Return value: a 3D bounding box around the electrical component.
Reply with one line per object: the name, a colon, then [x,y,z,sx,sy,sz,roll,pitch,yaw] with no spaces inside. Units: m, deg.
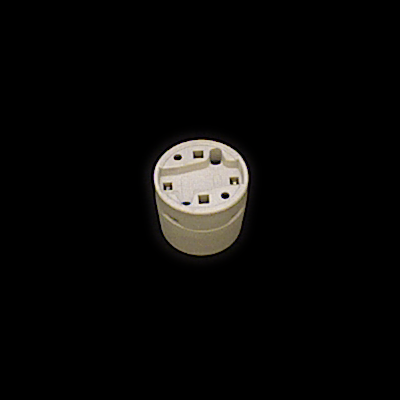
electrical component: [0.000,0.000,0.634,0.055,0.055,0.047,0,-38,-1]
